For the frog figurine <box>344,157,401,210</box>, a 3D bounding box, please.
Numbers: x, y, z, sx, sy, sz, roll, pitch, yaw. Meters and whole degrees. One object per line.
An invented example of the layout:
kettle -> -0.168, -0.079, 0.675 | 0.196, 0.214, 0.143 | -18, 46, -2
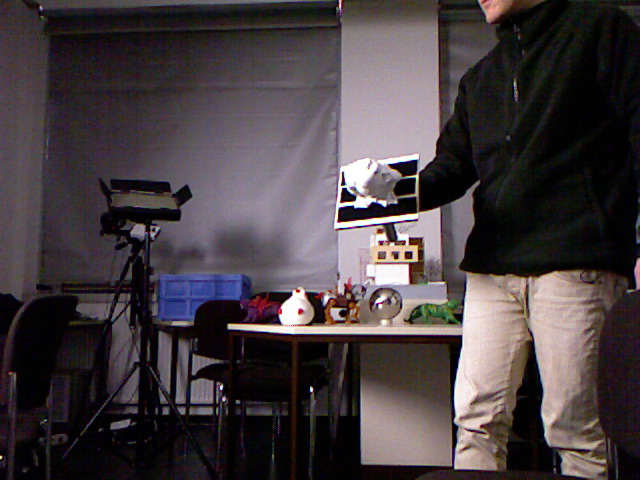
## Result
frog figurine -> 0.119, -0.153, 1.216 | 0.138, 0.125, 0.156 | 12, -30, 26
